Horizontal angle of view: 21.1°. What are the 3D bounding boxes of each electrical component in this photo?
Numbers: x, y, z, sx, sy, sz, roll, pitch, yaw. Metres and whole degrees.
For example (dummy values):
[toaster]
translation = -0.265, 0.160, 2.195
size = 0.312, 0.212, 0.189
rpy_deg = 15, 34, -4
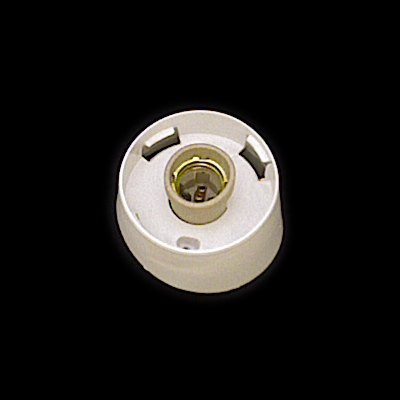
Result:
[electrical component]
translation = 0.000, 0.000, 0.624
size = 0.099, 0.099, 0.064
rpy_deg = 0, -27, -1
